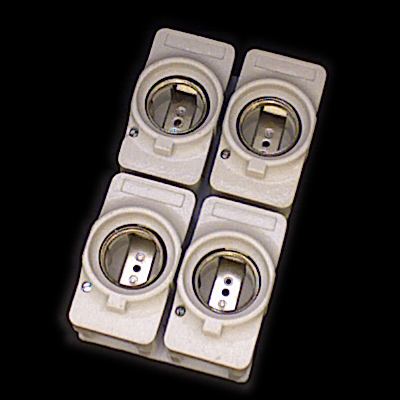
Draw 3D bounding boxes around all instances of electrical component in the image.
[{"bbox_3d":[0.000,0.000,0.625,0.105,0.187,0.060,15,-16,4],"label":"electrical component"}]
